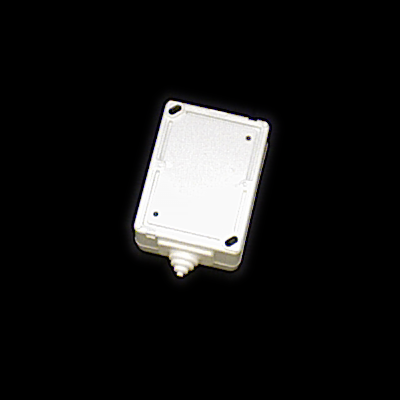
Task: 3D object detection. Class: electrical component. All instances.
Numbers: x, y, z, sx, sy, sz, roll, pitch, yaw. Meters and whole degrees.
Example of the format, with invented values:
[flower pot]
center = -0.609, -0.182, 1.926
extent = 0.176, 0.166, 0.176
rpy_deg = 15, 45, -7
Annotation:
[electrical component]
center = 0.000, 0.000, 0.623
extent = 0.062, 0.097, 0.060
rpy_deg = 13, -17, 3
